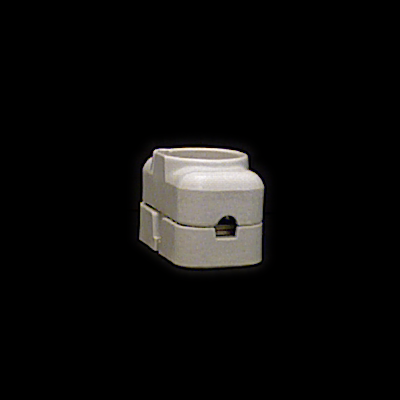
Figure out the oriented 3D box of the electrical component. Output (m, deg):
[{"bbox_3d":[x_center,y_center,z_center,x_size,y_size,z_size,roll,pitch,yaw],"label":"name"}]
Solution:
[{"bbox_3d":[0.000,0.000,0.650,0.054,0.060,0.094,-3,12,-20],"label":"electrical component"}]
